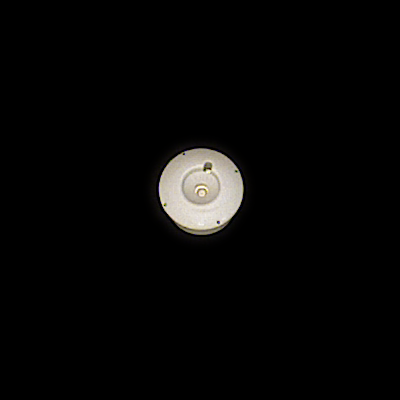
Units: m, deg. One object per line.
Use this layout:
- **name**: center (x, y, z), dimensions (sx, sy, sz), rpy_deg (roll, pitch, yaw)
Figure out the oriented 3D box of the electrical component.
- **electrical component**: center (0.000, 0.000, 0.633), dimensions (0.048, 0.048, 0.061), rpy_deg (0, -16, 1)
